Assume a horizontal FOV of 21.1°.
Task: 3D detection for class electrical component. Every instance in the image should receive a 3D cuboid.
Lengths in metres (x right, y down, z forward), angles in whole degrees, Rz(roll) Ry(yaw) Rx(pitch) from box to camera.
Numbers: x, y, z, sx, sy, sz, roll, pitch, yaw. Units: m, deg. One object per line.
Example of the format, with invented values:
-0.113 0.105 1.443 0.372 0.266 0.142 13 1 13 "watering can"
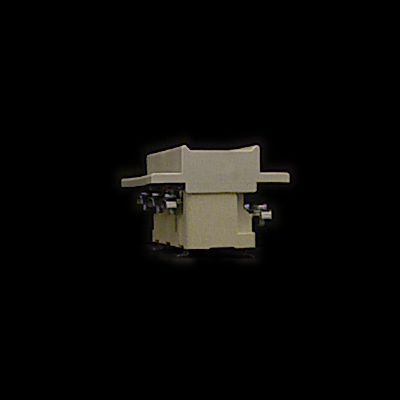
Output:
0.000 0.000 0.660 0.079 0.063 0.121 -1 1 -12 "electrical component"
